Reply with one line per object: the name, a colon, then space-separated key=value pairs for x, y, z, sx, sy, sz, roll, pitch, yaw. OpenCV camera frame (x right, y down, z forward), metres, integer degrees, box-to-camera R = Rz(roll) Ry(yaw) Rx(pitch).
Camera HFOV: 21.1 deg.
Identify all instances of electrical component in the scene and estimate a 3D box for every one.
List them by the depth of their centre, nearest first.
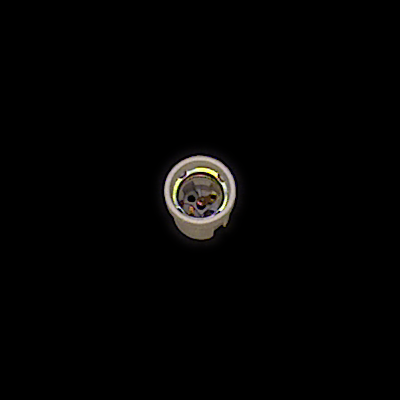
electrical component: x=0.000 y=0.000 z=0.627 sx=0.040 sy=0.040 sz=0.046 roll=0 pitch=-17 yaw=0
